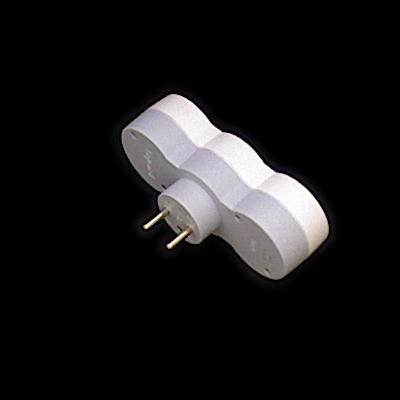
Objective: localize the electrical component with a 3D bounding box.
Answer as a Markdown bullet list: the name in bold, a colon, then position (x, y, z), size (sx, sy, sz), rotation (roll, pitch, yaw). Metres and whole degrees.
- **electrical component**: position (0.000, 0.000, 0.630), size (0.138, 0.074, 0.052), rotation (39, -27, 24)
